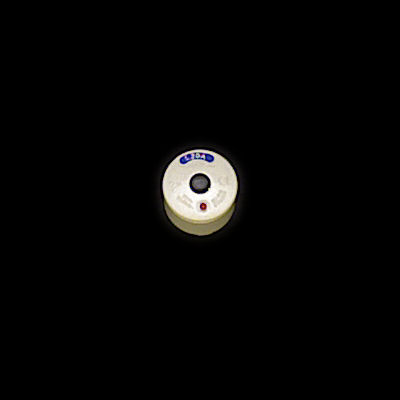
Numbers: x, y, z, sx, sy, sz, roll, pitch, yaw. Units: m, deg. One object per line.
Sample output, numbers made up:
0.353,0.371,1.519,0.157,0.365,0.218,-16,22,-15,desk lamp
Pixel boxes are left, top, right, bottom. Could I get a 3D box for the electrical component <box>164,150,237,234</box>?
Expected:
0.000,0.000,0.616,0.040,0.040,0.078,0,-16,0,electrical component
